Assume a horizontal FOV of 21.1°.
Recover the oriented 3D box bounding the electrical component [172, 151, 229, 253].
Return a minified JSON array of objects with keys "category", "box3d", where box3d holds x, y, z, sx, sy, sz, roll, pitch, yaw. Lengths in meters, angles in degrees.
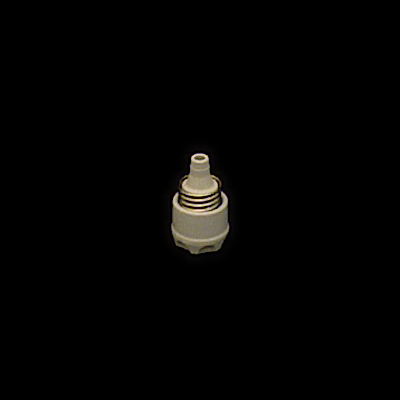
[{"category":"electrical component","box3d":[0.000,0.000,0.647,0.035,0.062,0.034,0,33,0]}]
